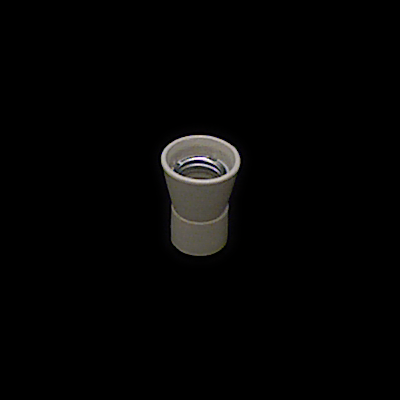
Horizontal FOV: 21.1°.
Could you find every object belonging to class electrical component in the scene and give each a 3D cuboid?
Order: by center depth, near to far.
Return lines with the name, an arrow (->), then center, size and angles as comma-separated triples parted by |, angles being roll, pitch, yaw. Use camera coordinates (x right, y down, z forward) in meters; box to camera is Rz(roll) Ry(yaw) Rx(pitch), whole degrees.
electrical component -> 0.000, 0.000, 0.631 | 0.044, 0.066, 0.044 | 1, 41, 0
